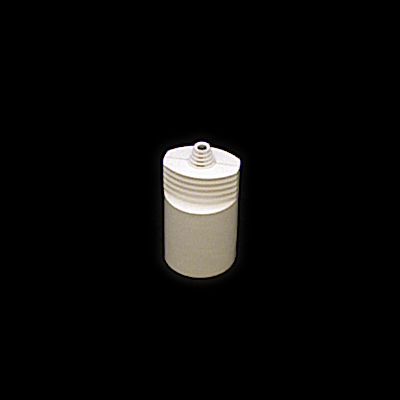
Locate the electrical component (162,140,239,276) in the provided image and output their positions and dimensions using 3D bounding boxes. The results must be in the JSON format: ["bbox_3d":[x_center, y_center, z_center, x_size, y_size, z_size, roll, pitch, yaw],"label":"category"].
[{"bbox_3d":[0.000,0.000,0.623,0.043,0.082,0.042,0,42,0],"label":"electrical component"}]
